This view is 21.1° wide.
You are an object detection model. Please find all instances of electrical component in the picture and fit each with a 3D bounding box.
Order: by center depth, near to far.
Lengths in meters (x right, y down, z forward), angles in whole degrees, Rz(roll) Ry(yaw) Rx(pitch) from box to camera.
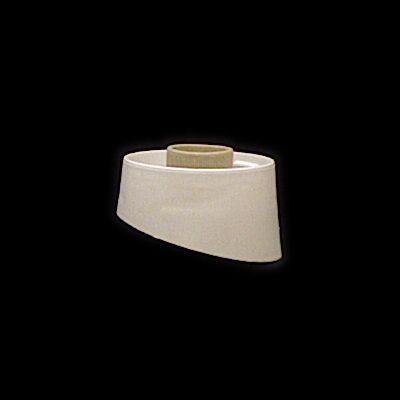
[{"bbox_3d":[0.000,0.000,0.643,0.099,0.064,0.098,2,10,0],"label":"electrical component"}]
